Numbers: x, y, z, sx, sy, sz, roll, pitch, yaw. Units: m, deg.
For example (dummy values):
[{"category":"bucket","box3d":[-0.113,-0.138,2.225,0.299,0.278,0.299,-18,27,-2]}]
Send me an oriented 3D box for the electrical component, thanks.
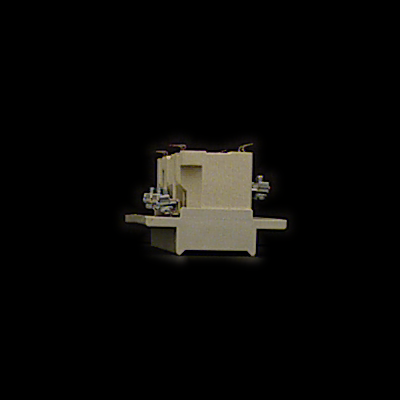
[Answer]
[{"category":"electrical component","box3d":[0.000,0.000,0.655,0.079,0.063,0.121,1,0,-10]}]
